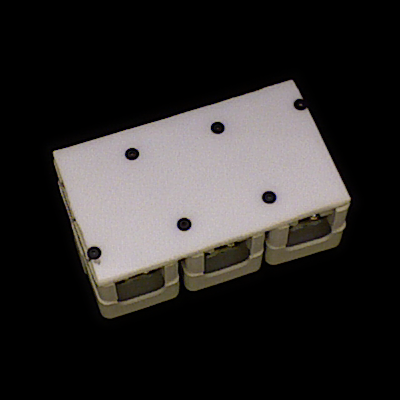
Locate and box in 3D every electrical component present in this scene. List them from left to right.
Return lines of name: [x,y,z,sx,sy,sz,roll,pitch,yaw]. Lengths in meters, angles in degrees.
electrical component: [0.000,0.000,0.633,0.150,0.089,0.062,-17,-26,-9]
